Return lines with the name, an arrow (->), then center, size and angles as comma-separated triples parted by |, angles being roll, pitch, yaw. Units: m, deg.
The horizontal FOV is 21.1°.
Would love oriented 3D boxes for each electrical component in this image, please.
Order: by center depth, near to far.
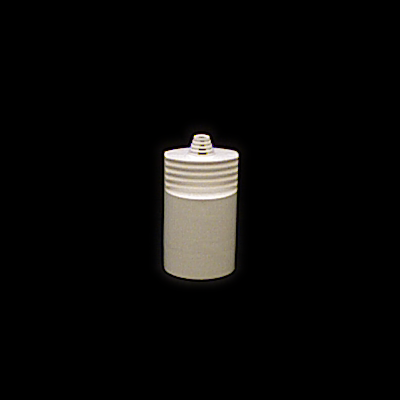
electrical component -> 0.000, 0.000, 0.635 | 0.043, 0.082, 0.042 | 1, 21, 0
